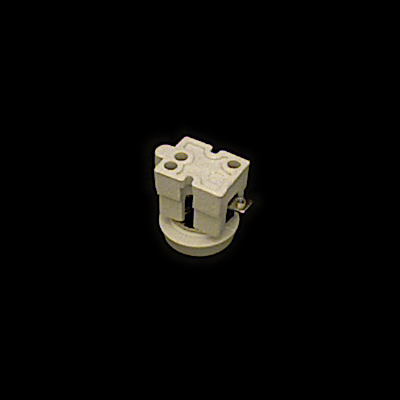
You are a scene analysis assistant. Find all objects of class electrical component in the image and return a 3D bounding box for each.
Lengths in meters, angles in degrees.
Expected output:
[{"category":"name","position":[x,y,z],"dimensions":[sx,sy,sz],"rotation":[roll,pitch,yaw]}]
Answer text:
[{"category":"electrical component","position":[0.000,0.000,0.640],"dimensions":[0.066,0.056,0.048],"rotation":[22,46,20]}]
